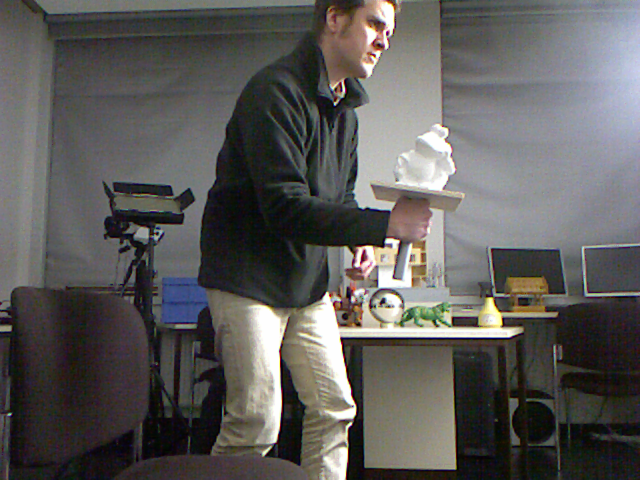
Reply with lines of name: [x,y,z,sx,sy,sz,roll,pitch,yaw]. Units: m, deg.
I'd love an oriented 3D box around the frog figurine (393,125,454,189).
frog figurine: [0.246,-0.189,1.209,0.138,0.159,0.123,13,4,26]
